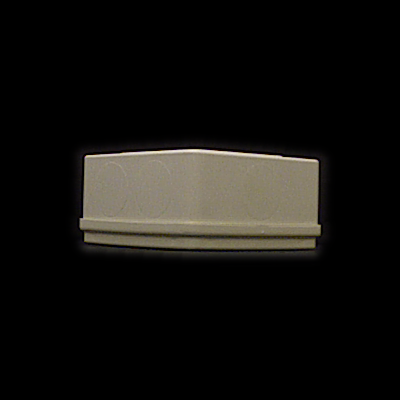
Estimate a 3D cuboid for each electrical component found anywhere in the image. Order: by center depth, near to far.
[{"bbox_3d":[0.000,0.000,0.652,0.109,0.056,0.108,2,-1,-41],"label":"electrical component"}]
